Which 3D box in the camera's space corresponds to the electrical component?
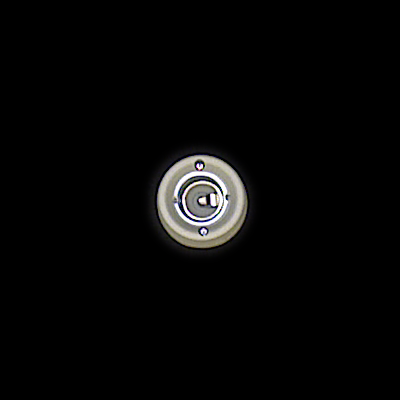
[{"bbox_3d":[0.000,0.000,0.633,0.055,0.055,0.047,0,-6,1],"label":"electrical component"}]
